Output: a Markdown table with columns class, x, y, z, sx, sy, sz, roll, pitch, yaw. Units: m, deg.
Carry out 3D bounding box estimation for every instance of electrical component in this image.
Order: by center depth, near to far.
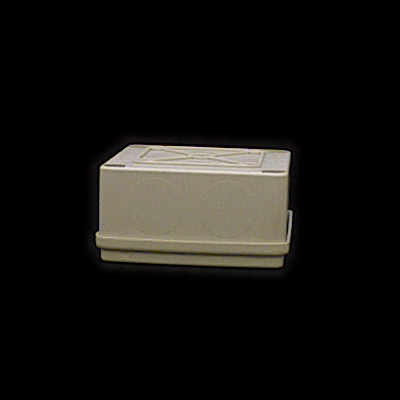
| class | x | y | z | sx | sy | sz | roll | pitch | yaw |
| --- | --- | --- | --- | --- | --- | --- | --- | --- | --- |
| electrical component | 0.000 | 0.000 | 0.643 | 0.109 | 0.056 | 0.108 | 2 | 11 | 5 |
